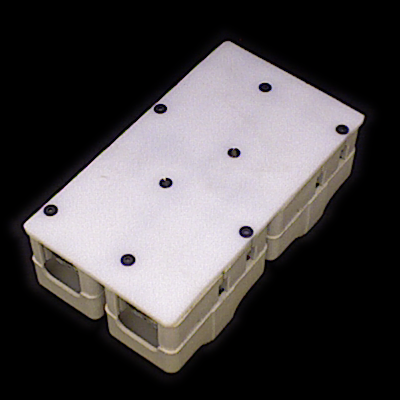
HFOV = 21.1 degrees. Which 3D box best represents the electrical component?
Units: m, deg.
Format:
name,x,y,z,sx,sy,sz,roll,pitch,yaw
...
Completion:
name,x,y,z,sx,sy,sz,roll,pitch,yaw
electrical component,0.000,0.000,0.627,0.105,0.186,0.060,32,-32,22
